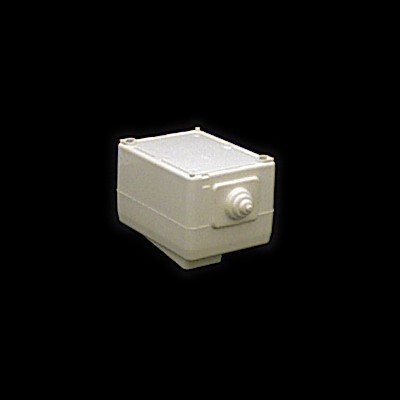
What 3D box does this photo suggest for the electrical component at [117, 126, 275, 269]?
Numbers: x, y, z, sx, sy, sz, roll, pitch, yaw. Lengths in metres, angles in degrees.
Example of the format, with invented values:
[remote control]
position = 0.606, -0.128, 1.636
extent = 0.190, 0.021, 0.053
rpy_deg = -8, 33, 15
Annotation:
[electrical component]
position = 0.000, 0.000, 0.634
extent = 0.061, 0.061, 0.096
rpy_deg = -12, 24, -33
